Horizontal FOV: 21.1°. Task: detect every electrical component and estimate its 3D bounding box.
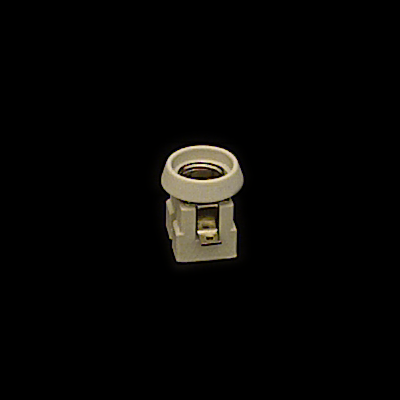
[{"bbox_3d":[0.000,0.000,0.642,0.048,0.056,0.065,-7,33,-9],"label":"electrical component"}]
